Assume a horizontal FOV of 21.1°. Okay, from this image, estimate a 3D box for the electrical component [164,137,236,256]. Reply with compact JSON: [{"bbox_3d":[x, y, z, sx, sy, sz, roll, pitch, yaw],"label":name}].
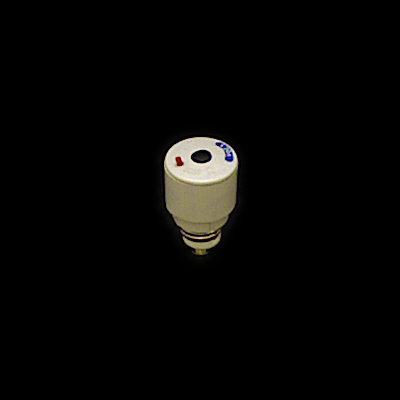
[{"bbox_3d":[0.000,0.000,0.624,0.040,0.079,0.039,0,42,0],"label":"electrical component"}]
